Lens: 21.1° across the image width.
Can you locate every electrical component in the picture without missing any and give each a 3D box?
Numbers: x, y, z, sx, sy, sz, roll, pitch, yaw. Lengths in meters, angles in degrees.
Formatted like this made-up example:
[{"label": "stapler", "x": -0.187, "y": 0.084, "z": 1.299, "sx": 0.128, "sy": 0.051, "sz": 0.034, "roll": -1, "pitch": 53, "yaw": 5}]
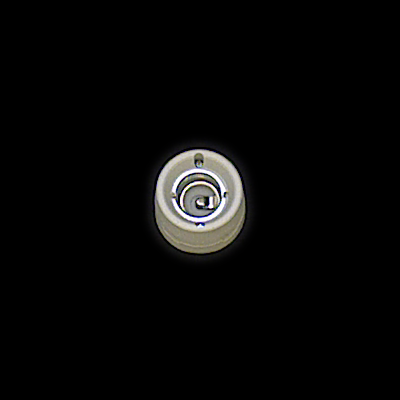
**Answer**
[{"label": "electrical component", "x": 0.000, "y": 0.000, "z": 0.632, "sx": 0.055, "sy": 0.056, "sz": 0.047, "roll": 0, "pitch": -16, "yaw": 0}]
